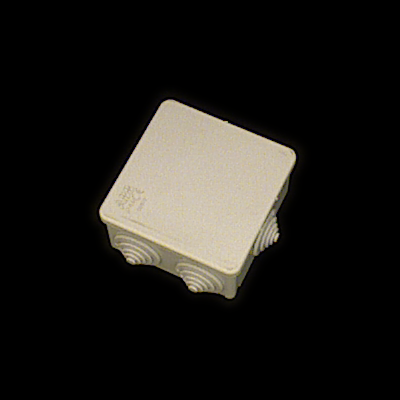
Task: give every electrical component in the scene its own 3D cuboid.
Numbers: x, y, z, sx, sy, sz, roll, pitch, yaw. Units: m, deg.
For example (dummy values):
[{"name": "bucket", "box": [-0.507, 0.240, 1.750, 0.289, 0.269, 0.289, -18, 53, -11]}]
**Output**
[{"name": "electrical component", "box": [0.000, 0.000, 0.639, 0.099, 0.100, 0.048, 24, -24, 11]}]
